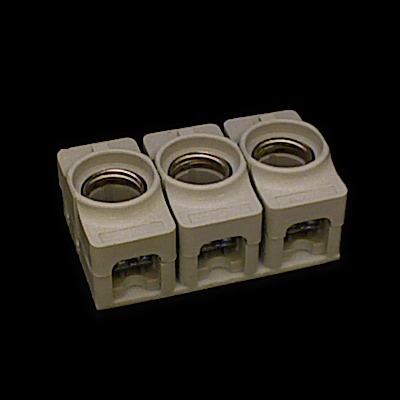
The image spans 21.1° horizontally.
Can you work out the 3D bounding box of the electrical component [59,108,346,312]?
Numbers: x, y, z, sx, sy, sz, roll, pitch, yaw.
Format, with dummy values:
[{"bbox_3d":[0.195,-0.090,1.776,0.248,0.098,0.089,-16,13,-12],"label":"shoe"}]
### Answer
[{"bbox_3d":[0.000,0.000,0.637,0.150,0.063,0.088,-11,42,-14],"label":"electrical component"}]
